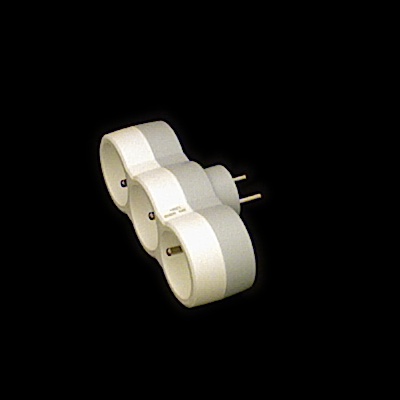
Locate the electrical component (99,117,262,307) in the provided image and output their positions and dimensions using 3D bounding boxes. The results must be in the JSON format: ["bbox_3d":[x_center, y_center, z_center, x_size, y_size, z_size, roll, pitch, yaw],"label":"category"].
[{"bbox_3d":[0.000,0.000,0.641,0.074,0.052,0.136,-17,46,-21],"label":"electrical component"}]
